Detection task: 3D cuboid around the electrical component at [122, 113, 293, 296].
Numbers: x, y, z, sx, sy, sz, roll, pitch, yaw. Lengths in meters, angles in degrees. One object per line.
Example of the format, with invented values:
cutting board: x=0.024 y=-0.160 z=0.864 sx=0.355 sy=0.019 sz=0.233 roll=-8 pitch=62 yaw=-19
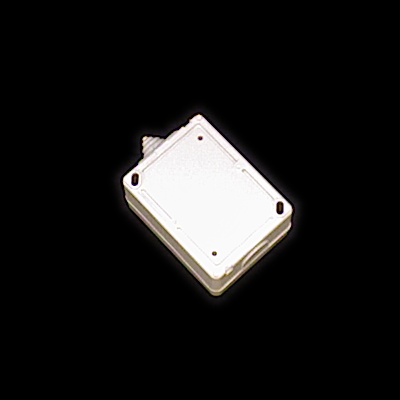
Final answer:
electrical component: x=0.000 y=0.000 z=0.629 sx=0.062 sy=0.096 sz=0.060 roll=-41 pitch=-13 yaw=-11
